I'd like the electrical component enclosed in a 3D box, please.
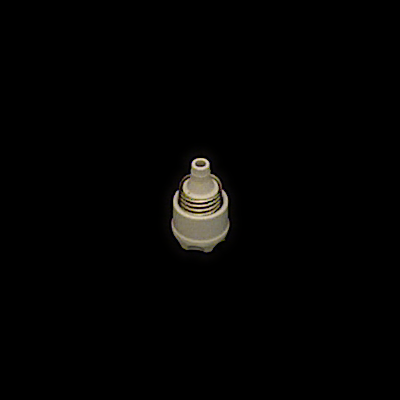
[{"bbox_3d":[0.000,0.000,0.644,0.035,0.062,0.034,0,44,0],"label":"electrical component"}]
